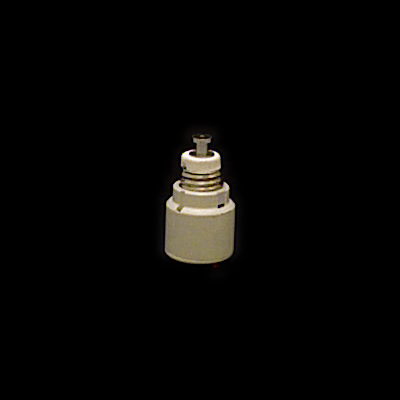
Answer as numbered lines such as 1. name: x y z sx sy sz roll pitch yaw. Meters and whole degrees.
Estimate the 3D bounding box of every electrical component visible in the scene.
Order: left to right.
1. electrical component: 0.000 0.000 0.634 0.040 0.079 0.039 1 20 0
